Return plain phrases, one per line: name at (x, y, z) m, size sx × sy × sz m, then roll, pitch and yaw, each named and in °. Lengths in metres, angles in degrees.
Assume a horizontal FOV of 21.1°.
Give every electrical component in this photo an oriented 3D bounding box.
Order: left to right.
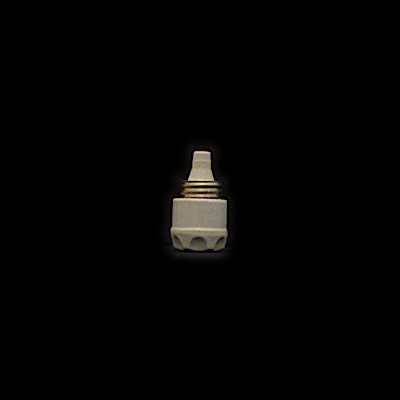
electrical component at (0.000, 0.000, 0.662) m, size 0.035 × 0.061 × 0.035 m, roll 3°, pitch 1°, yaw 0°
